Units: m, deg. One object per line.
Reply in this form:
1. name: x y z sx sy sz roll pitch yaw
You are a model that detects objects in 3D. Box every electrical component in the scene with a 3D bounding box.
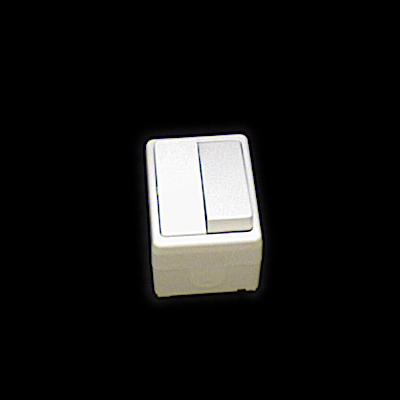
1. electrical component: 0.000 0.000 0.630 0.062 0.096 0.061 -3 -38 -3
